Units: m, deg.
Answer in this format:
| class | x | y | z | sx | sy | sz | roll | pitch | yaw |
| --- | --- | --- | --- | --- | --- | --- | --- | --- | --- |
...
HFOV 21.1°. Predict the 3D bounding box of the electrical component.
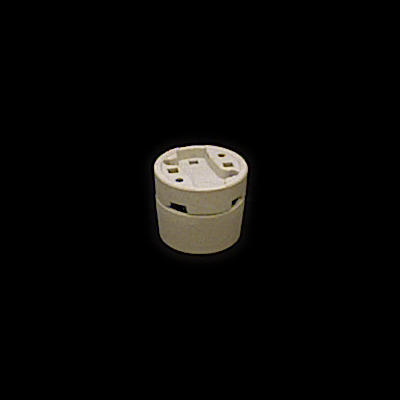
| class | x | y | z | sx | sy | sz | roll | pitch | yaw |
| --- | --- | --- | --- | --- | --- | --- | --- | --- | --- |
| electrical component | 0.000 | 0.000 | 0.639 | 0.055 | 0.047 | 0.055 | 1 | 32 | 0 |
